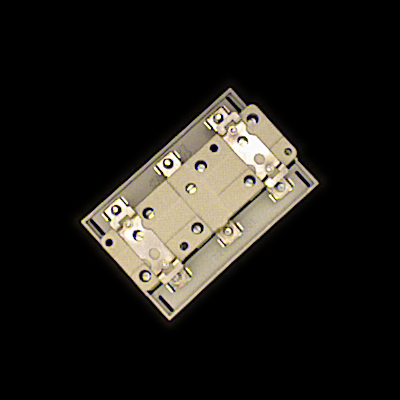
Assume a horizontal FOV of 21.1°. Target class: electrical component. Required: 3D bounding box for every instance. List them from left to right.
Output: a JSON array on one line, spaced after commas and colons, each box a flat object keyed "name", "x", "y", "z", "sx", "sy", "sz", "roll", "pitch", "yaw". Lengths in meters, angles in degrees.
[{"name": "electrical component", "x": 0.000, "y": 0.000, "z": 0.634, "sx": 0.122, "sy": 0.079, "sz": 0.063, "roll": -42, "pitch": -4, "yaw": -4}]
